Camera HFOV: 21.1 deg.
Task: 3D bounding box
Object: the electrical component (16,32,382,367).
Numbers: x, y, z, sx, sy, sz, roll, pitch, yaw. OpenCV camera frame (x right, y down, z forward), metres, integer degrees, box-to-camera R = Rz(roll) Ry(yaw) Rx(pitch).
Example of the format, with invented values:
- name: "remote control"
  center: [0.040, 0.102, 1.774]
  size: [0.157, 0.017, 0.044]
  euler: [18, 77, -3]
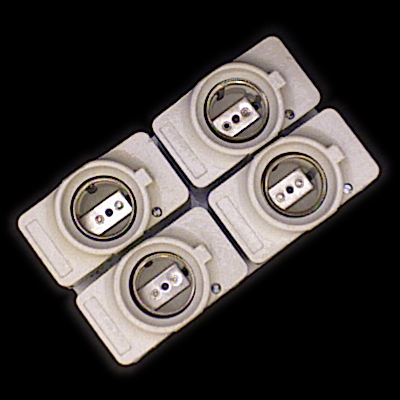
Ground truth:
- name: "electrical component"
  center: [0.000, 0.000, 0.626]
  size: [0.186, 0.105, 0.060]
  euler: [-37, -5, -4]
